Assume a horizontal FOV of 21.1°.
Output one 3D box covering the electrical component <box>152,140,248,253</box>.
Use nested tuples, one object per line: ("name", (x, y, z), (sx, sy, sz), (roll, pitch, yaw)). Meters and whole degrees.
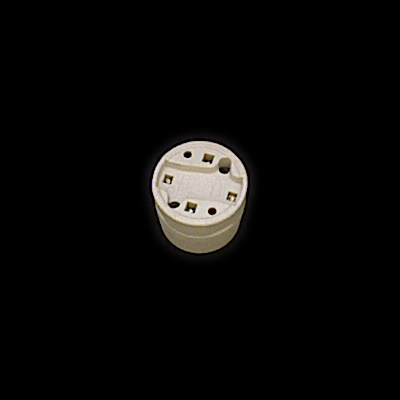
("electrical component", (0.000, 0.000, 0.634), (0.055, 0.056, 0.047), (0, -27, -1))
